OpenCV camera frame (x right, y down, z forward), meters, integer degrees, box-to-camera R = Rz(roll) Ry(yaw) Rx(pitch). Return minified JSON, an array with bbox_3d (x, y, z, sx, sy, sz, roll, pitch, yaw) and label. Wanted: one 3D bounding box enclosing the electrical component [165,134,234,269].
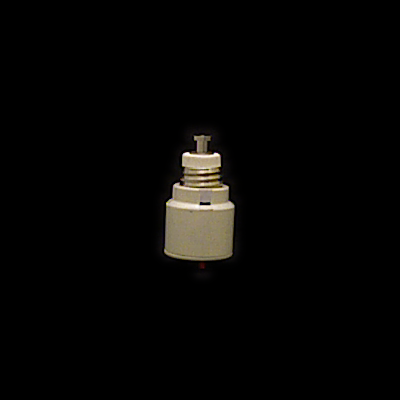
[{"bbox_3d":[0.000,0.000,0.642,0.040,0.079,0.040,2,11,0],"label":"electrical component"}]
